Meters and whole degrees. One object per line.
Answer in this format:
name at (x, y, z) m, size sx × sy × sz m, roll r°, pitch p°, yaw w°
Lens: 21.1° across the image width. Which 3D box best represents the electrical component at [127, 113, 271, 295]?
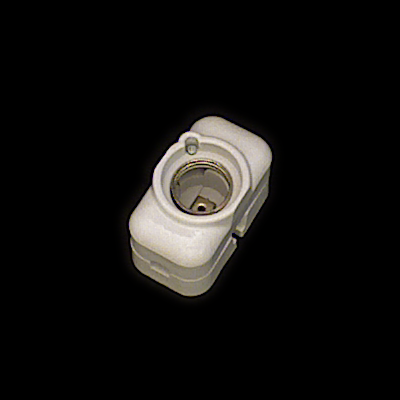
electrical component at (0.000, 0.000, 0.634) m, size 0.053 × 0.095 × 0.059 m, roll 27°, pitch -24°, yaw 13°
